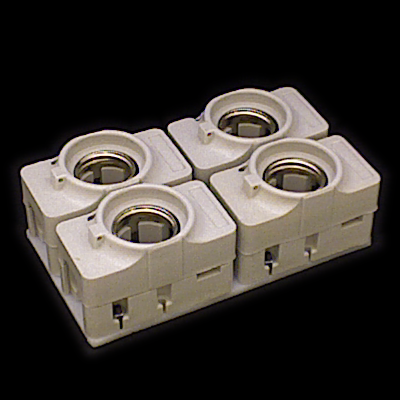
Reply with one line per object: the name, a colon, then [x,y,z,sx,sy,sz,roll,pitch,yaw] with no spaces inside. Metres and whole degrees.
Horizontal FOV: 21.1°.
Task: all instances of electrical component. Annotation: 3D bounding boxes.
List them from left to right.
electrical component: [0.000,0.000,0.629,0.186,0.061,0.104,-19,46,-20]
